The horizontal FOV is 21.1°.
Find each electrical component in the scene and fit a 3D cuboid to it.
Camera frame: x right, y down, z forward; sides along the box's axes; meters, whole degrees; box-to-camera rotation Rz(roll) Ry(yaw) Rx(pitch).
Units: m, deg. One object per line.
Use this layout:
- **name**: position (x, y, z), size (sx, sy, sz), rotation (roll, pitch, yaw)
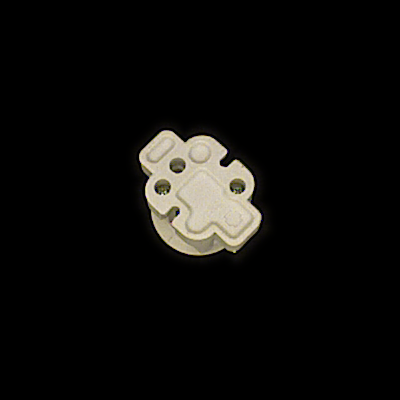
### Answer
- **electrical component**: position (0.000, 0.000, 0.636), size (0.078, 0.058, 0.056), rotation (42, -13, 10)
